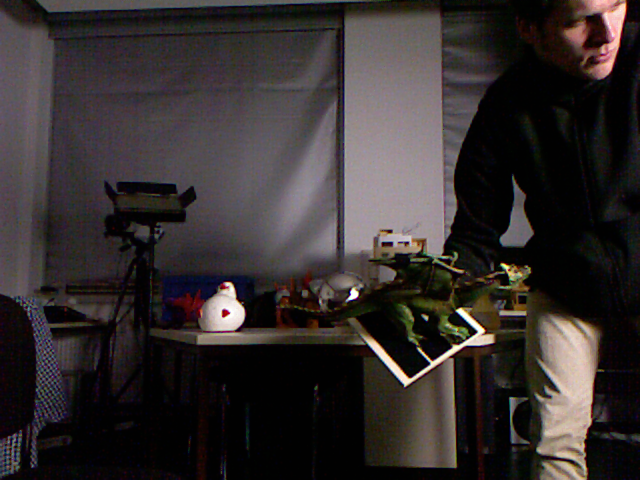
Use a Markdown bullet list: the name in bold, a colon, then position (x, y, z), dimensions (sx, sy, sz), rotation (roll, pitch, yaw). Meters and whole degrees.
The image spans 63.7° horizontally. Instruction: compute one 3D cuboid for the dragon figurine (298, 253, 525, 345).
- **dragon figurine**: position (0.162, 0.087, 0.929), dimensions (0.411, 0.125, 0.237), rotation (-2, -38, -2)
